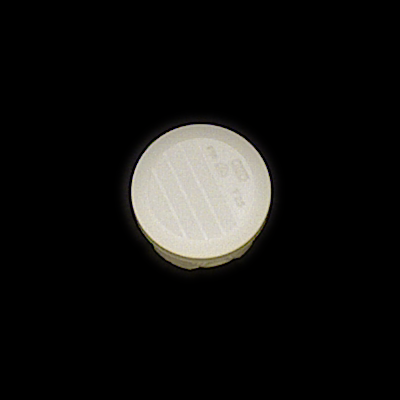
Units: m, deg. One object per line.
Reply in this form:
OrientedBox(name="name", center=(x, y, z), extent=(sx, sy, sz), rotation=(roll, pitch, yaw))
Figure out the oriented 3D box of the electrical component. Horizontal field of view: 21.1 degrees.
OrientedBox(name="electrical component", center=(0.000, 0.000, 0.629), extent=(0.080, 0.080, 0.050), rotation=(0, -17, 0))
